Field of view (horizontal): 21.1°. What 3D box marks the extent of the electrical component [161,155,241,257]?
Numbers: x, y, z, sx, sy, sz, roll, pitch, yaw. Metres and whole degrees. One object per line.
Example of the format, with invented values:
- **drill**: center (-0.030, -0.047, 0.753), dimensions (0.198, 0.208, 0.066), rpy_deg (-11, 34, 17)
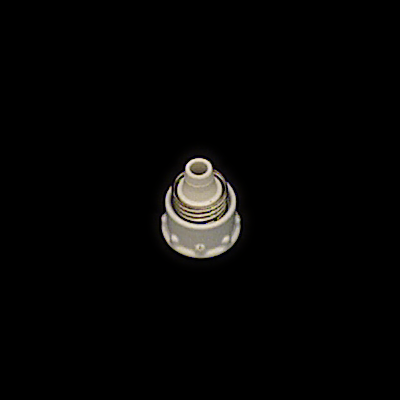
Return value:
- **electrical component**: center (0.000, 0.000, 0.635), dimensions (0.048, 0.048, 0.062), rpy_deg (0, -38, 1)
